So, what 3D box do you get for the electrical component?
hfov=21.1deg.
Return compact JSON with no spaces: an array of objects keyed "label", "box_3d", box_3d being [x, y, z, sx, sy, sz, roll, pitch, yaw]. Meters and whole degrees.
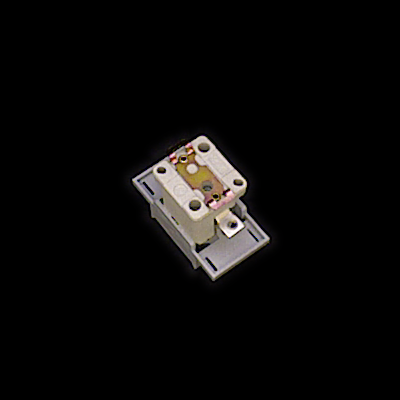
[{"label":"electrical component","box_3d":[0.000,0.000,0.625,0.042,0.081,0.063,-35,-22,-16]}]
